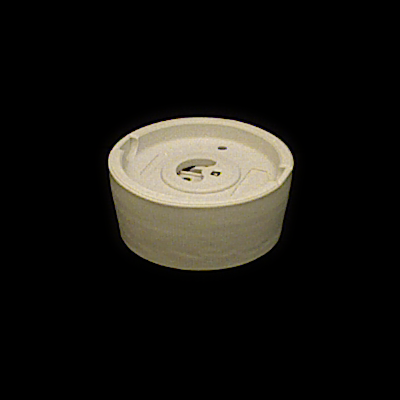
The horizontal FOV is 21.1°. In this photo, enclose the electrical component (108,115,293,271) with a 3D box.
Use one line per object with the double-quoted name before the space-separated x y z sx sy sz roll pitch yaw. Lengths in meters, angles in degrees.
"electrical component" 0.000 0.000 0.642 0.108 0.061 0.106 1 32 0
